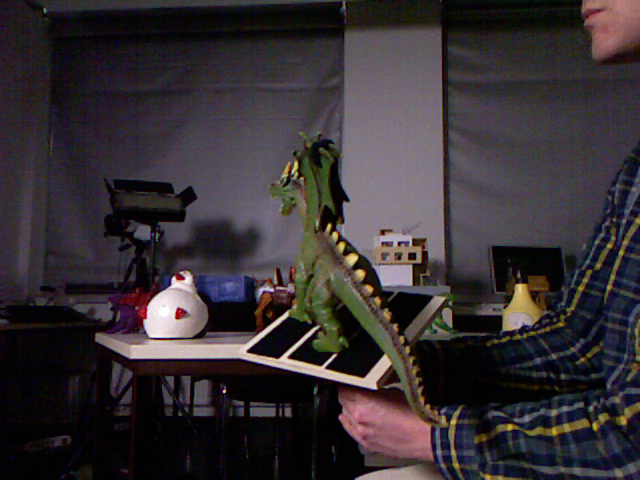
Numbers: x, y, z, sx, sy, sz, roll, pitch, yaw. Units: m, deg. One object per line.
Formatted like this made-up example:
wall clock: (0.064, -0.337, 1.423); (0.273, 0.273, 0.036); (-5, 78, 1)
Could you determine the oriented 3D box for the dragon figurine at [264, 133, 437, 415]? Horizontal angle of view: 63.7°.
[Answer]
dragon figurine: (0.015, -0.003, 0.614); (0.123, 0.239, 0.415); (-20, 22, -17)
